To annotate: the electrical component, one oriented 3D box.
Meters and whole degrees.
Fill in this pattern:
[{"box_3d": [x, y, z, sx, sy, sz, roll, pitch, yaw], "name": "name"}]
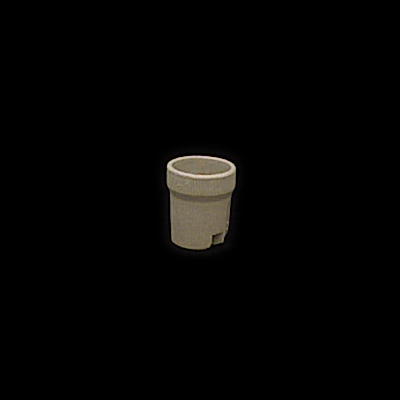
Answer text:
[{"box_3d": [0.000, 0.000, 0.639, 0.040, 0.047, 0.039, 1, 21, 0], "name": "electrical component"}]
